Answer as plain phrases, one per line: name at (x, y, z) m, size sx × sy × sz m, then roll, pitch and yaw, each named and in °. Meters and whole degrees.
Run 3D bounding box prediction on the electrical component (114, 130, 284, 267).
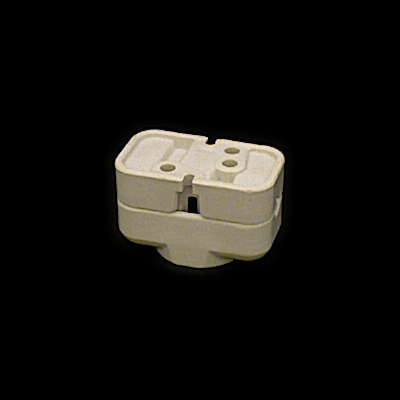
electrical component at (0.000, 0.000, 0.644) m, size 0.095 × 0.060 × 0.053 m, roll 9°, pitch 33°, yaw 13°
